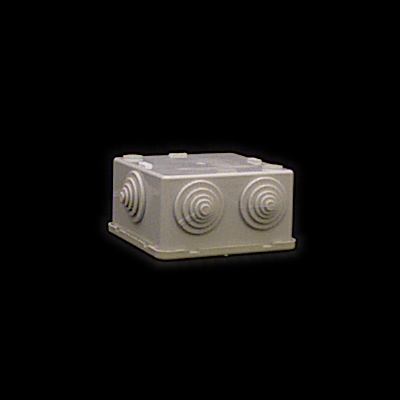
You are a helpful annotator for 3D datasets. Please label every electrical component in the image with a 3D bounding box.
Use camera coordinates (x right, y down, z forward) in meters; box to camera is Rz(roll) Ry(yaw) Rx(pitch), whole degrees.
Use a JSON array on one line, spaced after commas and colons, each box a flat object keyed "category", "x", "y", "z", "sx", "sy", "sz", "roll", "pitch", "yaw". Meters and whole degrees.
[{"category": "electrical component", "x": 0.000, "y": 0.000, "z": 0.646, "sx": 0.100, "sy": 0.049, "sz": 0.099, "roll": -4, "pitch": 12, "yaw": -24}]
